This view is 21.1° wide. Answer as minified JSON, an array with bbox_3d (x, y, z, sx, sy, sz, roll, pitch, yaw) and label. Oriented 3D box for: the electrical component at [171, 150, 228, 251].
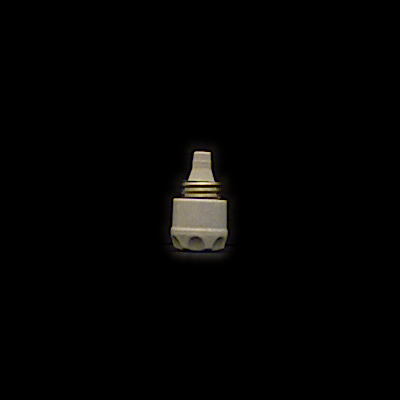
[{"bbox_3d":[0.000,0.000,0.664,0.035,0.061,0.035,2,3,0],"label":"electrical component"}]
